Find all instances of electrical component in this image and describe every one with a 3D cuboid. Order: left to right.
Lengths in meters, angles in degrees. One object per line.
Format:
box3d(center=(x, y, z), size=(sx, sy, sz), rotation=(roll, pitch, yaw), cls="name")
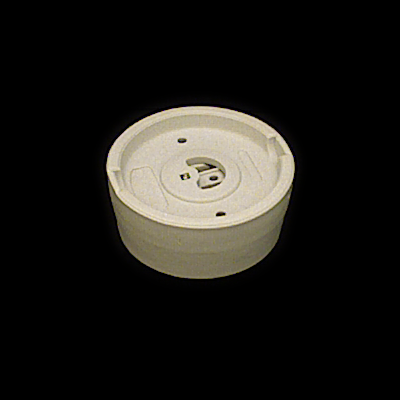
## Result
box3d(center=(0.000, 0.000, 0.635), size=(0.108, 0.061, 0.107), rotation=(1, 43, 0), cls="electrical component")
